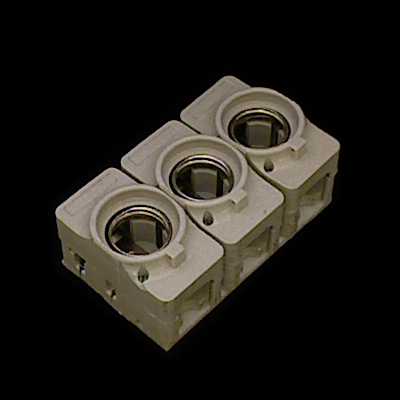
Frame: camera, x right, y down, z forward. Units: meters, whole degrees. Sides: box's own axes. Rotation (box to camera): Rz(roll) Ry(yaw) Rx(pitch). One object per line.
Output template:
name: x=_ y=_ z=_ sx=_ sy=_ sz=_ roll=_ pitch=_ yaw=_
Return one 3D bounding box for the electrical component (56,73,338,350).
electrical component: x=0.000 y=0.000 z=0.633 sx=0.089 sy=0.062 sz=0.149 roll=36 pitch=61 yaw=24
